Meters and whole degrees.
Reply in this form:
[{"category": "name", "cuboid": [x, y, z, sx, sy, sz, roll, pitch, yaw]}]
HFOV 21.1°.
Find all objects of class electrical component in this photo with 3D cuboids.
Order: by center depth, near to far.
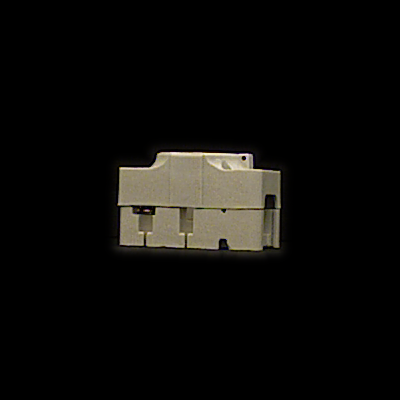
[{"category": "electrical component", "cuboid": [0.000, 0.000, 0.656, 0.089, 0.056, 0.050, 1, 1, 19]}]
